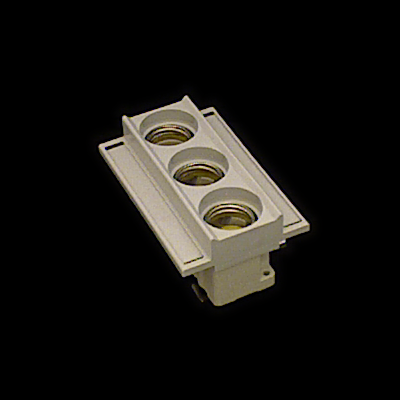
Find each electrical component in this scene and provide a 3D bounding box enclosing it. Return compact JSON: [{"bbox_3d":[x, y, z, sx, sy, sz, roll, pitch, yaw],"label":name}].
[{"bbox_3d":[0.000,0.000,0.641,0.079,0.063,0.120,-19,46,-18],"label":"electrical component"}]
